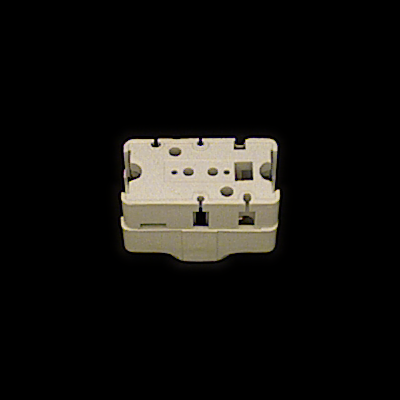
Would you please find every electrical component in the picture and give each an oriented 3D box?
[{"bbox_3d":[0.000,0.000,0.638,0.090,0.050,0.056,0,-38,-1],"label":"electrical component"}]
